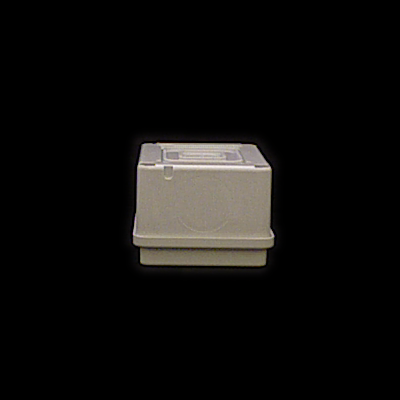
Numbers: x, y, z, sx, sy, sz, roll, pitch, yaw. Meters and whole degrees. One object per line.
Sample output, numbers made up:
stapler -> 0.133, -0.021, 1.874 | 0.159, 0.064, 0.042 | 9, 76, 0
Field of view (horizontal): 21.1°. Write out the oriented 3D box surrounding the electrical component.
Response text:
electrical component -> 0.000, 0.000, 0.644 | 0.078, 0.057, 0.112 | 1, 10, -2
